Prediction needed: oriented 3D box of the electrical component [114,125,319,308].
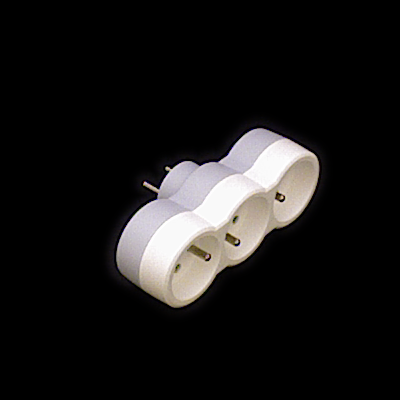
[{"bbox_3d":[0.000,0.000,0.631,0.073,0.052,0.138,30,50,31],"label":"electrical component"}]
